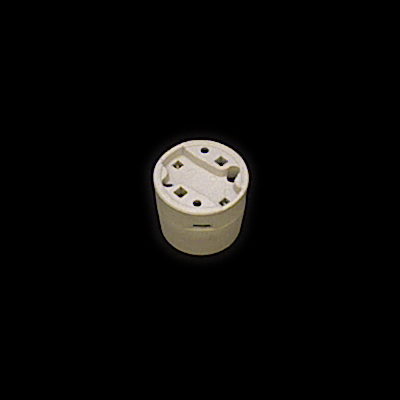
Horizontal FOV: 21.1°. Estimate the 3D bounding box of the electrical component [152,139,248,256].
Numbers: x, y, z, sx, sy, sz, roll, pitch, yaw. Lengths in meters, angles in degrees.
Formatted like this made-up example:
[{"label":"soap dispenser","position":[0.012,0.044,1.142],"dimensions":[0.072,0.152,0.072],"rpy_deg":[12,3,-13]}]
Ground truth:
[{"label":"electrical component","position":[0.000,0.000,0.635],"dimensions":[0.055,0.055,0.047],"rpy_deg":[0,-38,0]}]
